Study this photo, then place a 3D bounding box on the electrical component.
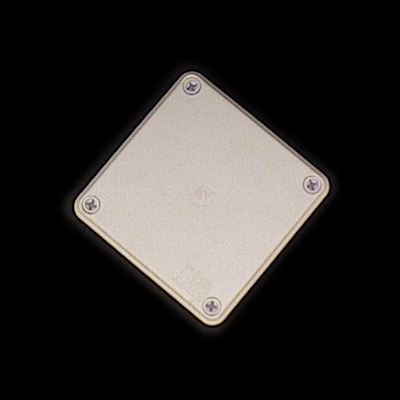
[{"bbox_3d":[0.000,0.000,0.631,0.109,0.109,0.056,40,-5,4],"label":"electrical component"}]
